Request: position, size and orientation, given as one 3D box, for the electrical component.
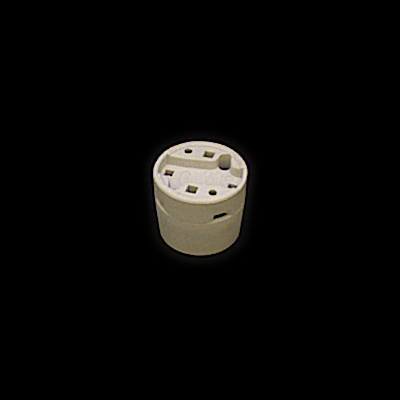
[{"bbox_3d":[0.000,0.000,0.637,0.055,0.047,0.055,0,42,0],"label":"electrical component"}]
